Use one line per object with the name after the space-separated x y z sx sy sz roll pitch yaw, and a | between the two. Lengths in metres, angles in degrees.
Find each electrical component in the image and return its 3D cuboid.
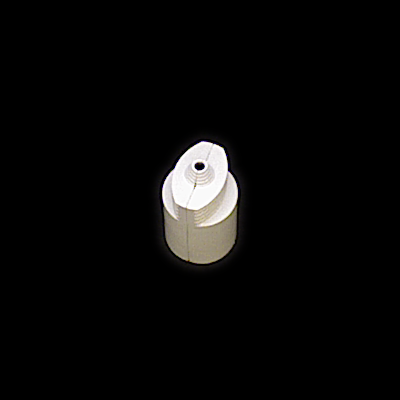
0.000 0.000 0.617 0.043 0.043 0.081 0 -28 0 | electrical component
